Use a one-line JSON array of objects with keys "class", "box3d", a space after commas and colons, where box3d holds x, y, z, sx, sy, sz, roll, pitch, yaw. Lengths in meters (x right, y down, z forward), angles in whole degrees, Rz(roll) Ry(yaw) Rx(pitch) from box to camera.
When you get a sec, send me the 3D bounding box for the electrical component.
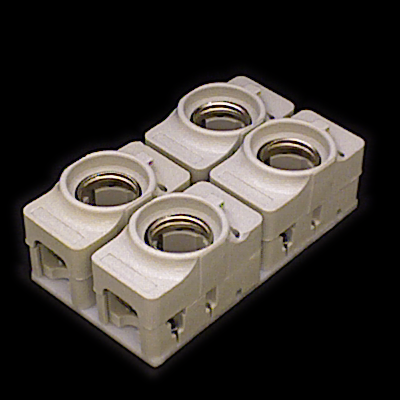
[{"class": "electrical component", "box3d": [0.000, 0.000, 0.630, 0.104, 0.061, 0.186, 32, 50, 30]}]
